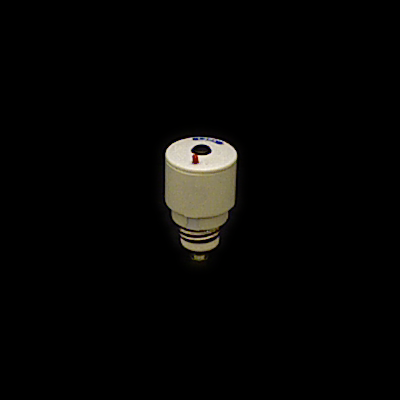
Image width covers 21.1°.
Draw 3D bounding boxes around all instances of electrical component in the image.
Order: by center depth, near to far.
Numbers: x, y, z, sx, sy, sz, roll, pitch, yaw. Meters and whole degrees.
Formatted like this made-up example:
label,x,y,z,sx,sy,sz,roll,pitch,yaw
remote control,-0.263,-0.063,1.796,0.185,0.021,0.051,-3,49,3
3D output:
label,x,y,z,sx,sy,sz,roll,pitch,yaw
electrical component,0.000,0.000,0.627,0.040,0.079,0.039,1,32,0
